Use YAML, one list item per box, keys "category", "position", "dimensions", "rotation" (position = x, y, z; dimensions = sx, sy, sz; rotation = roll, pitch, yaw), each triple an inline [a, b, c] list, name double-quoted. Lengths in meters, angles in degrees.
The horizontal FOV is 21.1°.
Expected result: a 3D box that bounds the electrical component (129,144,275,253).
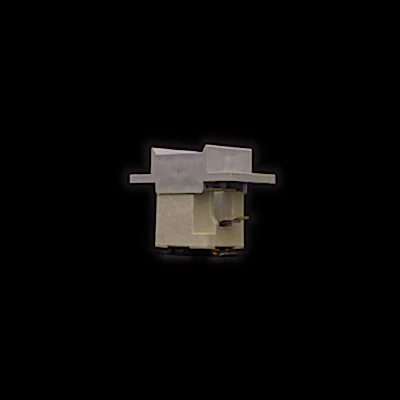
- category: "electrical component"
  position: [0.000, 0.000, 0.648]
  dimensions: [0.081, 0.063, 0.042]
  rotation: [1, 0, 42]
